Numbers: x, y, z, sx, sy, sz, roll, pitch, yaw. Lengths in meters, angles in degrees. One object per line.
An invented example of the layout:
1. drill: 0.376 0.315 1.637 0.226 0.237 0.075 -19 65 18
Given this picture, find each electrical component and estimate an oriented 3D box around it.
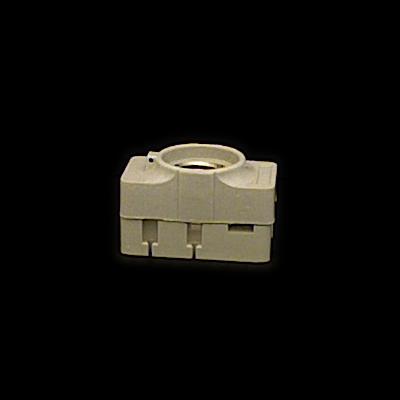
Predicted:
1. electrical component: 0.000 0.000 0.647 0.089 0.056 0.049 3 22 4
